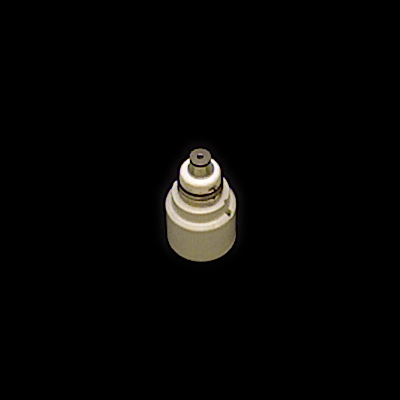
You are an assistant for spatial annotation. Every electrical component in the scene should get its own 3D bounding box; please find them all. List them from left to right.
[{"bbox_3d":[0.000,0.000,0.620,0.040,0.040,0.079,0,-38,1],"label":"electrical component"}]
